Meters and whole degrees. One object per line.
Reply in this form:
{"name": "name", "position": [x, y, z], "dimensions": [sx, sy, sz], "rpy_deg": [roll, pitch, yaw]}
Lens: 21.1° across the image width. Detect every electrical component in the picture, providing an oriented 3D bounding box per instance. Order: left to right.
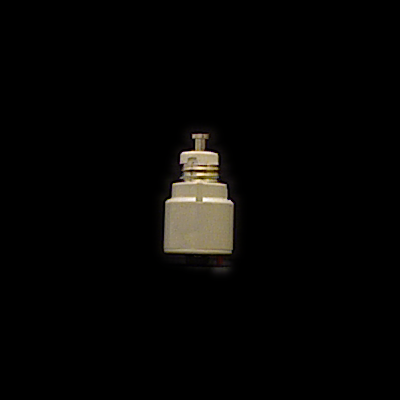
{"name": "electrical component", "position": [0.000, 0.000, 0.648], "dimensions": [0.040, 0.078, 0.040], "rpy_deg": [1, 0, 0]}
